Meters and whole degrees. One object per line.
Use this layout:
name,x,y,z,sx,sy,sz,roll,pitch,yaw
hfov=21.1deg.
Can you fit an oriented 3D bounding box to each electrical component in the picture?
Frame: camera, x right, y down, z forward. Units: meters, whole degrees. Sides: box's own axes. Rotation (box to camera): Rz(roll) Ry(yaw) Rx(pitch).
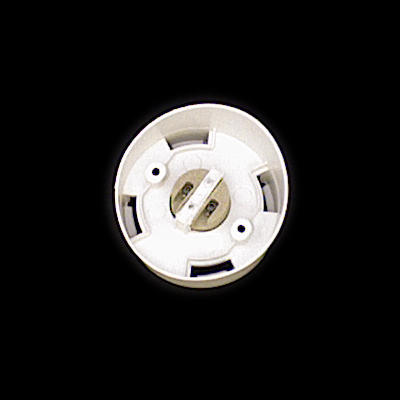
electrical component,0.000,0.000,0.624,0.099,0.099,0.064,0,-18,0
